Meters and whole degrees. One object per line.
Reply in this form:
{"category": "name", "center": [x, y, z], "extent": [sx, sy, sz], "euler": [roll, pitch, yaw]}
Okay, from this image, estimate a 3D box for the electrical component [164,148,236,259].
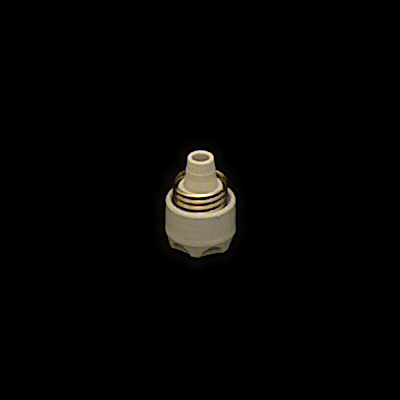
{"category": "electrical component", "center": [0.000, 0.000, 0.640], "extent": [0.043, 0.063, 0.043], "euler": [0, 34, 0]}
